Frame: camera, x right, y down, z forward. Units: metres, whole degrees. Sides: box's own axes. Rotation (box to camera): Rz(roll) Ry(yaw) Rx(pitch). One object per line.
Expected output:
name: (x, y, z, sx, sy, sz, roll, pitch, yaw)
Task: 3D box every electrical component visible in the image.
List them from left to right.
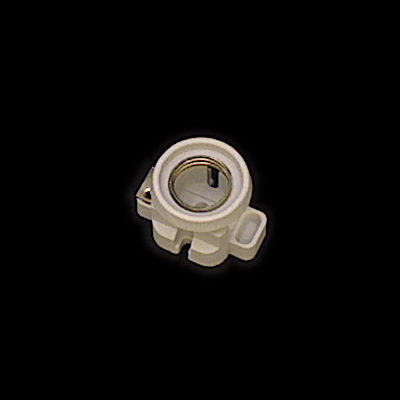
electrical component: (0.000, 0.000, 0.628, 0.078, 0.058, 0.057, 23, -25, 11)
